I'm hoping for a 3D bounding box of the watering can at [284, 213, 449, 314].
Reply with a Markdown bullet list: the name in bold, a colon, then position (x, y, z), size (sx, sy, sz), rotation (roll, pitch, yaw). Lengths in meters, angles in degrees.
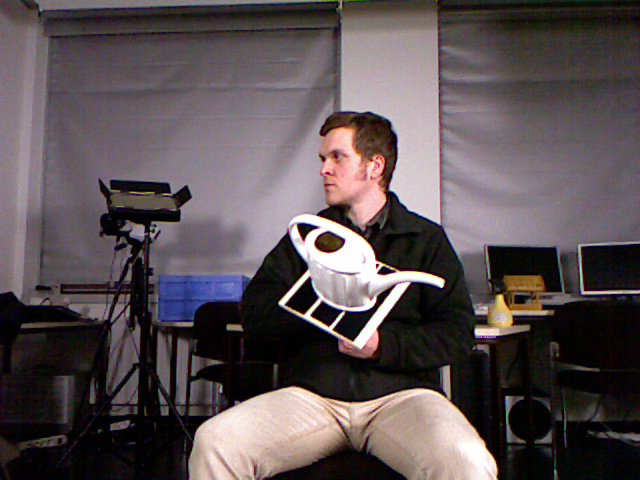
- **watering can**: position (0.074, 0.065, 0.981), size (0.351, 0.219, 0.106), rotation (26, 57, 27)
